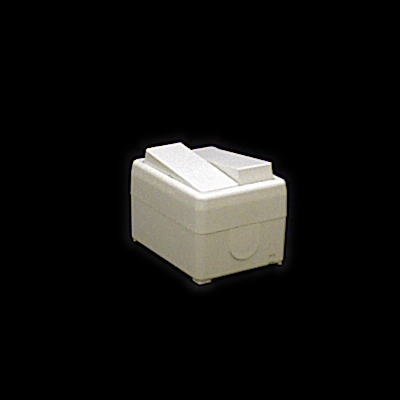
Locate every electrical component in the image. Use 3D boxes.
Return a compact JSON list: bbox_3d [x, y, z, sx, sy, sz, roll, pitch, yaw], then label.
[{"bbox_3d":[0.000,0.000,0.641,0.062,0.061,0.095,-12,24,-31],"label":"electrical component"}]
